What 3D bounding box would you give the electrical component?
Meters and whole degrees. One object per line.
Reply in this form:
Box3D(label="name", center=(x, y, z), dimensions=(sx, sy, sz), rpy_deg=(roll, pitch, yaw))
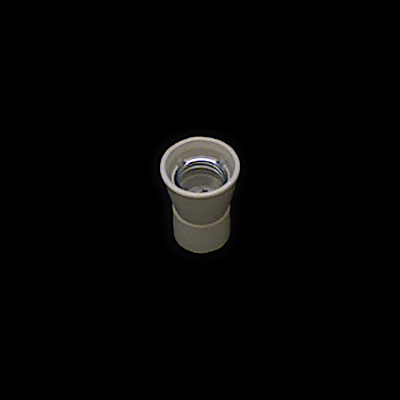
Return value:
Box3D(label="electrical component", center=(0.000, 0.000, 0.627), dimensions=(0.044, 0.044, 0.065), rpy_deg=(0, -38, 1))
